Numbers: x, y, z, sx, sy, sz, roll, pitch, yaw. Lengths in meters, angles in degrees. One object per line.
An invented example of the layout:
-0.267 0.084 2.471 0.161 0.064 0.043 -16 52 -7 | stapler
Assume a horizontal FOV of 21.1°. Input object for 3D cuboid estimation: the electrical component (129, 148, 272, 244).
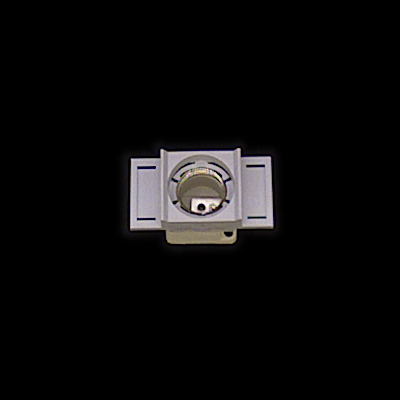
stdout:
0.000 0.000 0.624 0.081 0.042 0.063 0 -18 1 | electrical component
